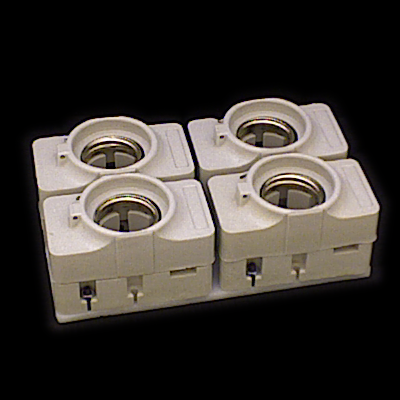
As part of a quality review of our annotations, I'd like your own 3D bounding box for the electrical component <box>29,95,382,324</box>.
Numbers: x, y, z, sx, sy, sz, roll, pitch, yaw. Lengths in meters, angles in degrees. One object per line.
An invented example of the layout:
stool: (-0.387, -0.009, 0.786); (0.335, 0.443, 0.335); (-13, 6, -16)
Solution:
electrical component: (0.000, 0.000, 0.629); (0.186, 0.061, 0.104); (-8, 43, -9)
